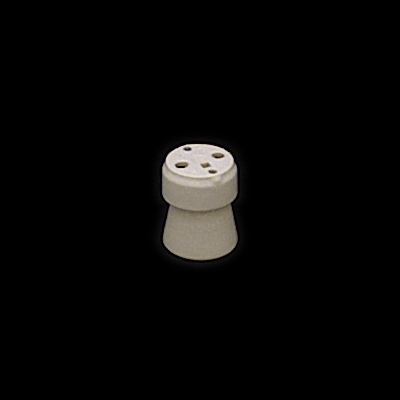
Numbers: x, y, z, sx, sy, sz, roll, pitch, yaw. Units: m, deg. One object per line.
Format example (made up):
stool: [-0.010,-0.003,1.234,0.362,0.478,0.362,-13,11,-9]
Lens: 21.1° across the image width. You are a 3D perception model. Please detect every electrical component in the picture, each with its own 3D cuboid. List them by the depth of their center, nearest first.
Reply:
electrical component: [0.000,0.000,0.634,0.045,0.056,0.044,0,32,0]
